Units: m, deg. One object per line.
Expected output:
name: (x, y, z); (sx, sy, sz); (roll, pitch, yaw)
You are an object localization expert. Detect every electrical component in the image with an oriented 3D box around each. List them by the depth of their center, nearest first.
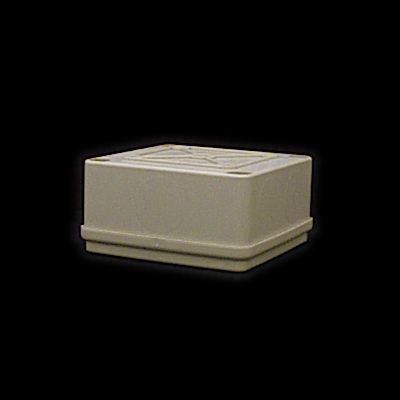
electrical component: (0.000, 0.000, 0.647); (0.108, 0.056, 0.108); (7, 11, 25)
